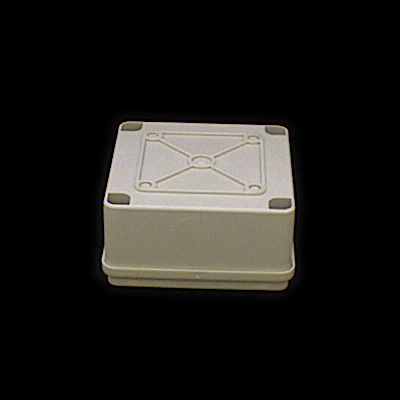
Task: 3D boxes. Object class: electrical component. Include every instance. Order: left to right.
[{"bbox_3d":[0.000,0.000,0.637,0.109,0.057,0.107,2,31,0],"label":"electrical component"}]
